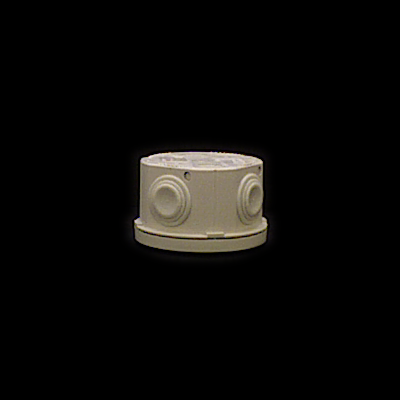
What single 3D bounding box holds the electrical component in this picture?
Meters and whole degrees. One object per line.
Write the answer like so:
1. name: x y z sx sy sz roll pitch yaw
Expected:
1. electrical component: 0.000 0.000 0.645 0.080 0.051 0.079 1 11 0
